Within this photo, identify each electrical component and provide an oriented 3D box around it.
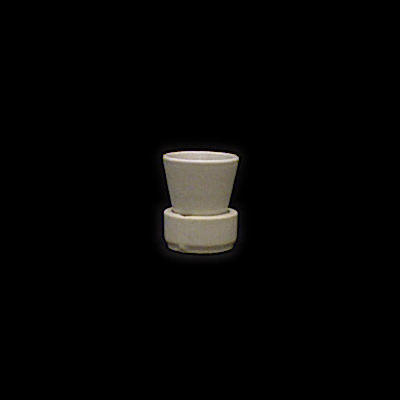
[{"bbox_3d":[0.000,0.000,0.643,0.045,0.055,0.044,1,10,0],"label":"electrical component"}]
